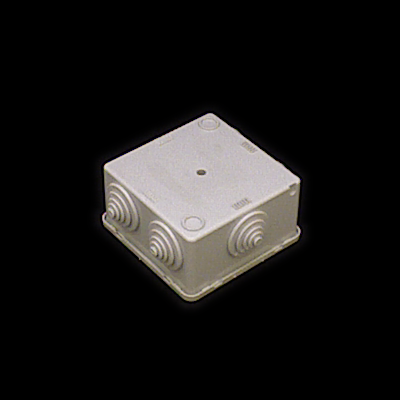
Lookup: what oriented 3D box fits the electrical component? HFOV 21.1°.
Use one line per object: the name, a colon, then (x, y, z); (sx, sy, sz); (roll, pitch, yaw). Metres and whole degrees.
electrical component: (0.000, 0.000, 0.633); (0.100, 0.049, 0.099); (-28, 50, -28)
